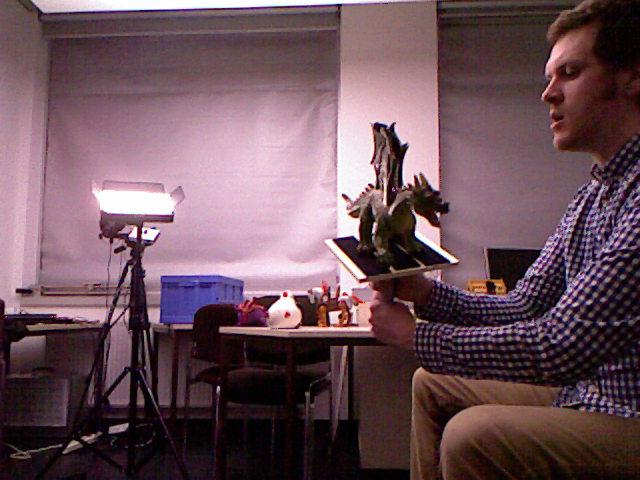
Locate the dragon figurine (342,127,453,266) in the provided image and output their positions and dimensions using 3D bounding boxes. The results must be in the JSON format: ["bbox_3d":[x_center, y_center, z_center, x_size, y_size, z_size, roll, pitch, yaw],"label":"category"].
[{"bbox_3d":[0.121,-0.100,1.001,0.123,0.239,0.417,-7,24,-20],"label":"dragon figurine"}]
